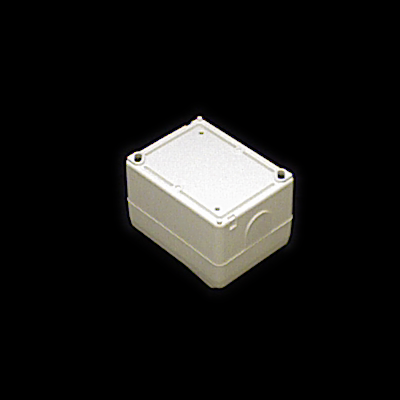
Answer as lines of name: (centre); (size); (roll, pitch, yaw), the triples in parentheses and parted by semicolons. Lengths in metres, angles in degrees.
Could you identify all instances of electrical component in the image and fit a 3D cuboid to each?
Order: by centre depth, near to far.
electrical component: (0.000, 0.000, 0.633); (0.062, 0.061, 0.095); (-33, 52, -31)
